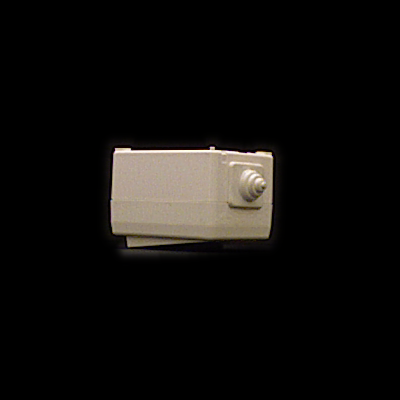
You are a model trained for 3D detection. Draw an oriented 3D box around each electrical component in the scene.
[{"bbox_3d":[0.000,0.000,0.647,0.096,0.061,0.062,2,1,39],"label":"electrical component"}]
